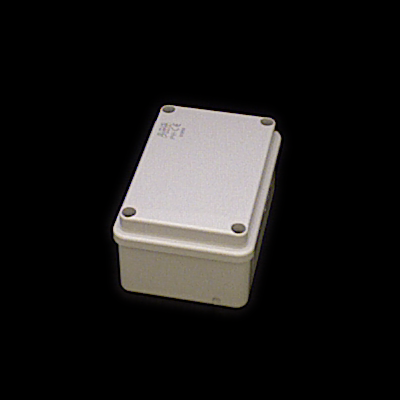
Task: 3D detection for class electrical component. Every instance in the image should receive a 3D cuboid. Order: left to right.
[{"bbox_3d":[0.000,0.000,0.631,0.078,0.057,0.112,8,43,8],"label":"electrical component"}]
